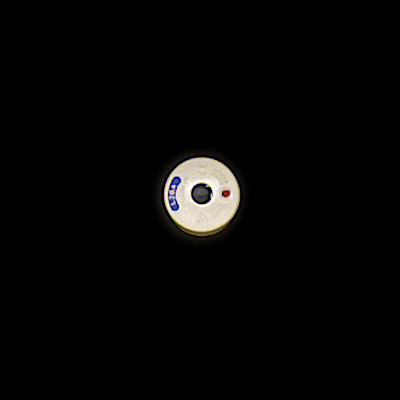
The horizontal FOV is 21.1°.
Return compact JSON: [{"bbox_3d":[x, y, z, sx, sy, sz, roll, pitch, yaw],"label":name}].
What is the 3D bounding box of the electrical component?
[{"bbox_3d":[0.000,0.000,0.617,0.040,0.040,0.078,0,-6,0],"label":"electrical component"}]
